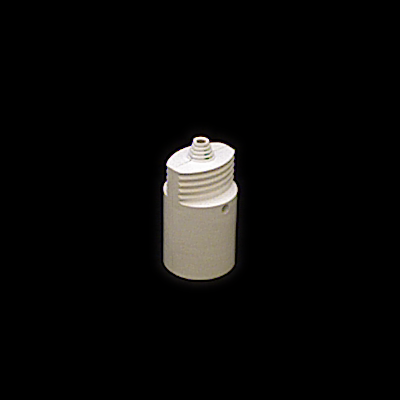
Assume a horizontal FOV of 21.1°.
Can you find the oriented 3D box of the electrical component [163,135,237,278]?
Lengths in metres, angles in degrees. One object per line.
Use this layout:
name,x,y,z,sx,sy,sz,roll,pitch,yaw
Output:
electrical component,0.000,0.000,0.628,0.043,0.082,0.042,1,31,0
